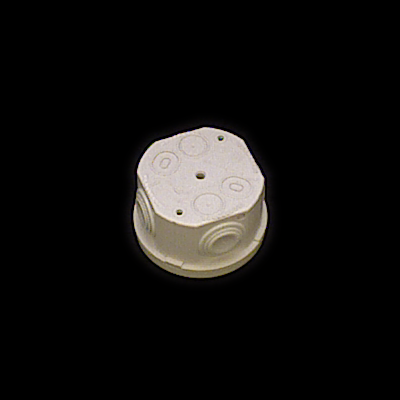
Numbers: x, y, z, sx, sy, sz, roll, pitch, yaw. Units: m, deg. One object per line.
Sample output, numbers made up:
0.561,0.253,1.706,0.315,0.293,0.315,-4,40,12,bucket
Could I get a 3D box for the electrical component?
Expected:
0.000,0.000,0.631,0.080,0.080,0.051,0,-37,0,electrical component
